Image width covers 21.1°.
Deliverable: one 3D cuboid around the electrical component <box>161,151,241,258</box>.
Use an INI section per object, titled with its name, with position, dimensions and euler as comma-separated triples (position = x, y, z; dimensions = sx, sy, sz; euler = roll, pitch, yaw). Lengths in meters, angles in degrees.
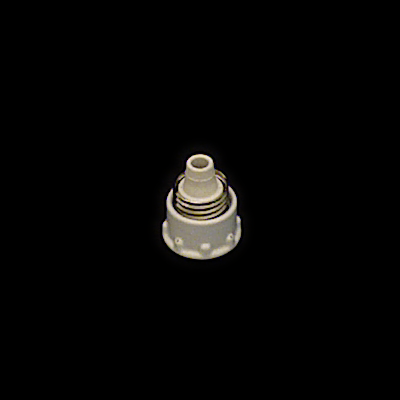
[electrical component]
position = 0.000, 0.000, 0.636
dimensions = 0.048, 0.062, 0.047
euler = 0, 43, 1
